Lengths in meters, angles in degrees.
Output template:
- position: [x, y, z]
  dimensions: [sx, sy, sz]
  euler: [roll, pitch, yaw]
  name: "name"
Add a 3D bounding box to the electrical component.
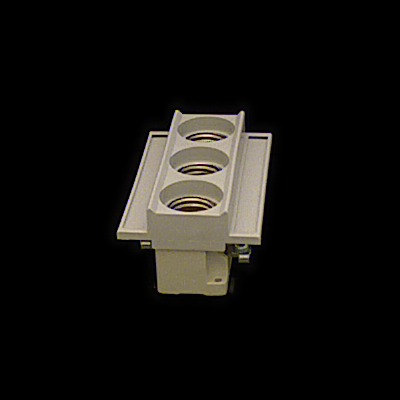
- position: [0.000, 0.000, 0.645]
  dimensions: [0.078, 0.064, 0.119]
  euler: [3, 32, 6]
  name: "electrical component"
